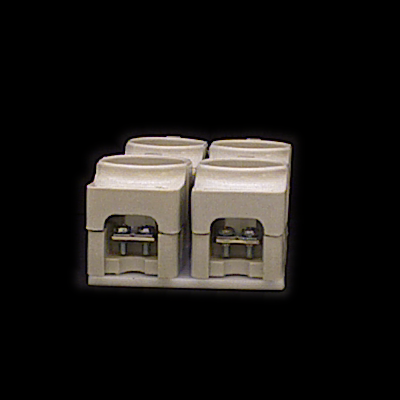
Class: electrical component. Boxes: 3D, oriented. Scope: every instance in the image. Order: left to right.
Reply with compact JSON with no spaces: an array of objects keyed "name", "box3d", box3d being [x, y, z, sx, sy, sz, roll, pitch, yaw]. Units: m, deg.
[{"name":"electrical component","box3d":[0.000,0.000,0.644,0.105,0.060,0.185,2,10,5]}]
